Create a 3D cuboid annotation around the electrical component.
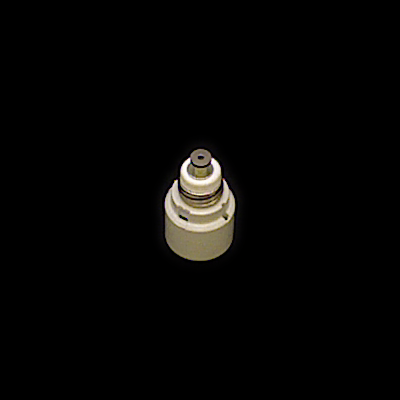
[{"bbox_3d":[0.000,0.000,0.621,0.040,0.040,0.079,0,-38,-2],"label":"electrical component"}]
